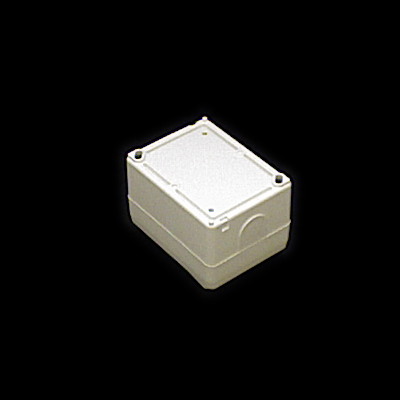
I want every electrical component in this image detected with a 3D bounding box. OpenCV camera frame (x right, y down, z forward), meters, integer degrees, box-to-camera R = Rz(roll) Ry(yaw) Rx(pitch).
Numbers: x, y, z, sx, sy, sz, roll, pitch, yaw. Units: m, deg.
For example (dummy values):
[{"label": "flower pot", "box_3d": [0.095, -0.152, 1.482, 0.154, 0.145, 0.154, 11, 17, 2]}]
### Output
[{"label": "electrical component", "box_3d": [0.000, 0.000, 0.634, 0.062, 0.061, 0.095, -29, 50, -28]}]
